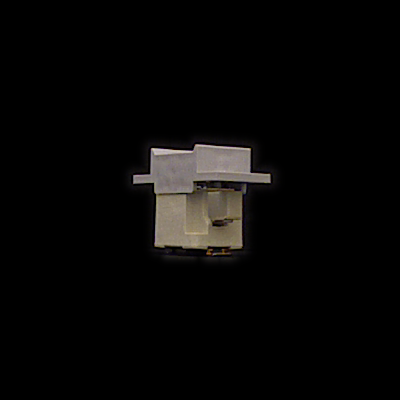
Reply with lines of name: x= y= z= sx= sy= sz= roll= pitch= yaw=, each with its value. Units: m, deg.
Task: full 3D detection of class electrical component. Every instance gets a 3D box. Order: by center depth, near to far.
electrical component: x=0.000 y=0.000 z=0.648 sx=0.042 sy=0.063 sz=0.081 roll=2 pitch=-1 yaw=-38
